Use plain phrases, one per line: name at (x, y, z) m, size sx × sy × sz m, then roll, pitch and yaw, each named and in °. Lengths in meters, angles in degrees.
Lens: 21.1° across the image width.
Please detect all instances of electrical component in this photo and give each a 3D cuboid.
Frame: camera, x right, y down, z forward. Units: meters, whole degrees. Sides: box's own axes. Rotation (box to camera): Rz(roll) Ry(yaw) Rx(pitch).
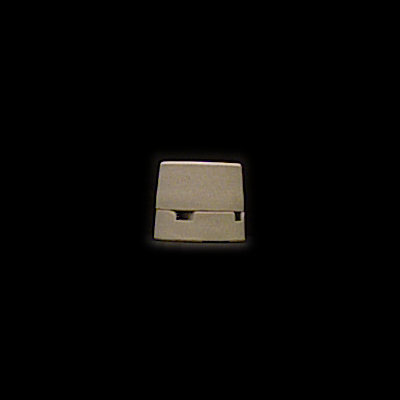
electrical component at (0.000, 0.000, 0.649) m, size 0.055 × 0.047 × 0.055 m, roll 1°, pitch 2°, yaw 0°
